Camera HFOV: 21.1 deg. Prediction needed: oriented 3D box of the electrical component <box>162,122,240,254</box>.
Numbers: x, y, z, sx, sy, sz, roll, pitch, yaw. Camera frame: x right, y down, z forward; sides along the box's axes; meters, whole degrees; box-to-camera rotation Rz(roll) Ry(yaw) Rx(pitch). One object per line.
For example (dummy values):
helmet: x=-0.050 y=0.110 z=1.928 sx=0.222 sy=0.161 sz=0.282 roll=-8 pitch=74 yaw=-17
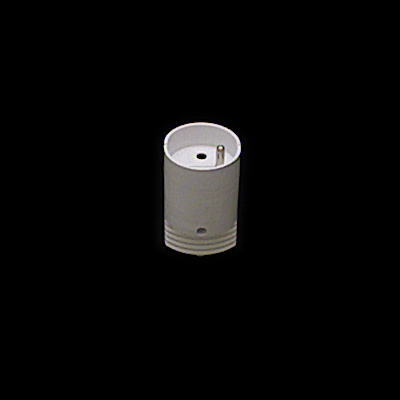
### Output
electrical component: x=0.000 y=0.000 z=0.625 sx=0.043 sy=0.082 sz=0.042 roll=1 pitch=42 yaw=-1
